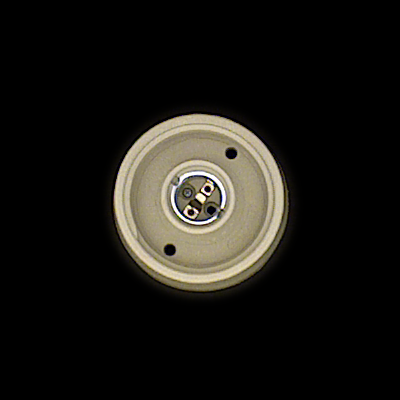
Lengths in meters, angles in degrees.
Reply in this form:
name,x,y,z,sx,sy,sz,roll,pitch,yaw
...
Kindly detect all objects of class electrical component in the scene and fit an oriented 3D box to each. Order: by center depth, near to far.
name,x,y,z,sx,sy,sz,roll,pitch,yaw
electrical component,0.000,0.000,0.635,0.108,0.108,0.060,0,-6,0
